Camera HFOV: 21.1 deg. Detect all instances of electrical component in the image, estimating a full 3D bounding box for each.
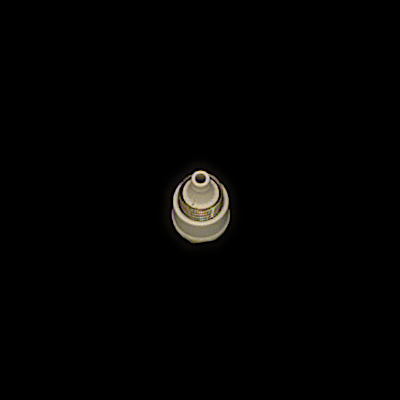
[{"bbox_3d":[0.000,0.000,0.639,0.035,0.035,0.061,0,-25,0],"label":"electrical component"}]
